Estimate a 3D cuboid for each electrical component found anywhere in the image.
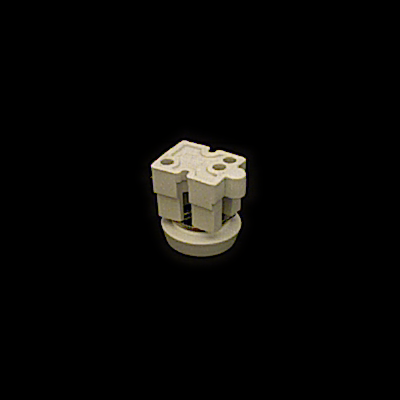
[{"bbox_3d":[0.000,0.000,0.644,0.066,0.056,0.048,18,38,27],"label":"electrical component"}]
